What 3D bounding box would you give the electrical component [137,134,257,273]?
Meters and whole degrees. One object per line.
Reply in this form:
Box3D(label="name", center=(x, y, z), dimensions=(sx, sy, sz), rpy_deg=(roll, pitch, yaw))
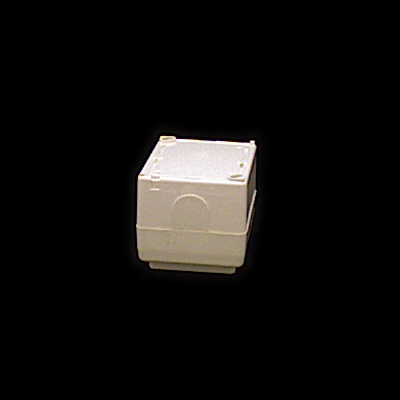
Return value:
Box3D(label="electrical component", center=(0.000, 0.000, 0.641), dimensions=(0.062, 0.061, 0.095), rpy_deg=(3, 20, 6))
